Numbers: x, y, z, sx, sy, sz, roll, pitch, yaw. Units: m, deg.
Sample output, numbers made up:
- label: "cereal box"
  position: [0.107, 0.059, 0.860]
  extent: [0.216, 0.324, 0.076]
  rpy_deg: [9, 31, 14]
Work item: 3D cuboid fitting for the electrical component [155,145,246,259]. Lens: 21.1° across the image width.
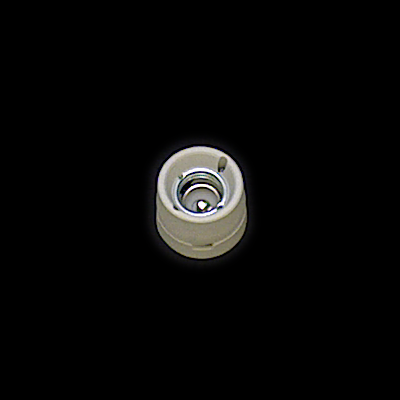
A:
- label: "electrical component"
  position: [0.000, 0.000, 0.632]
  extent: [0.055, 0.056, 0.047]
  rpy_deg: [0, -27, 1]
